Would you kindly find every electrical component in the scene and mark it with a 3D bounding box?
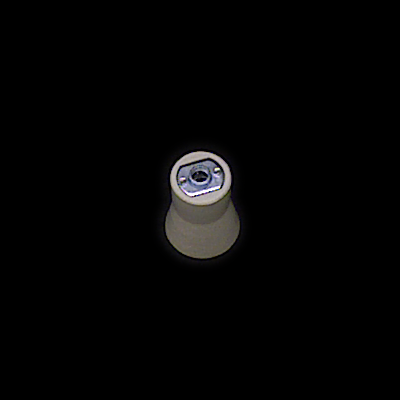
[{"bbox_3d":[0.000,0.000,0.626,0.044,0.044,0.065,0,-28,1],"label":"electrical component"}]
